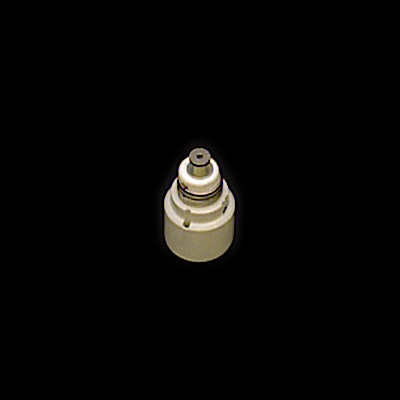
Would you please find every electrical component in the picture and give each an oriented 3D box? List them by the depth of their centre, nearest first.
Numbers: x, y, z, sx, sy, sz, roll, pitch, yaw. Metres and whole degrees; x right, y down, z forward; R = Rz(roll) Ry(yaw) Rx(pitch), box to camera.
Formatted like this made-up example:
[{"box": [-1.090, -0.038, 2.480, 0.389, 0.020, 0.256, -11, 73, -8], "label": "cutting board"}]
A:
[{"box": [0.000, 0.000, 0.620, 0.040, 0.040, 0.078, 0, -39, 0], "label": "electrical component"}]
